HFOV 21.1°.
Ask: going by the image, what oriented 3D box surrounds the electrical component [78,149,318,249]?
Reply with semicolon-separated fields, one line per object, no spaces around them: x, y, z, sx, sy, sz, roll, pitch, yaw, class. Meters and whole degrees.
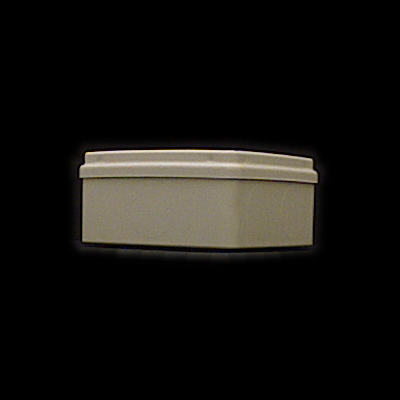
0.000;0.000;0.648;0.108;0.056;0.109;1;1;31;electrical component
